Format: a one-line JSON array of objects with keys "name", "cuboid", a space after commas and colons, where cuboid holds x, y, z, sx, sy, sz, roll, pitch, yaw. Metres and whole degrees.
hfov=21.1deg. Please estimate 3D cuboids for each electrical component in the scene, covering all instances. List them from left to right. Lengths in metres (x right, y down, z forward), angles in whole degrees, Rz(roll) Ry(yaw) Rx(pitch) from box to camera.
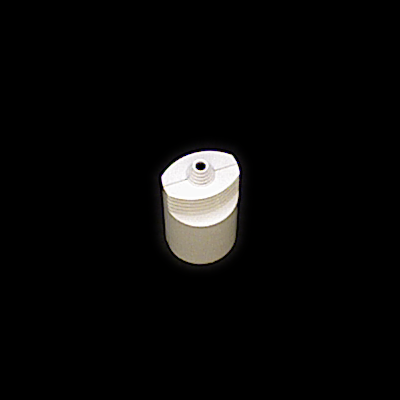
[{"name": "electrical component", "cuboid": [0.000, 0.000, 0.617, 0.043, 0.043, 0.081, 0, -27, 0]}]
